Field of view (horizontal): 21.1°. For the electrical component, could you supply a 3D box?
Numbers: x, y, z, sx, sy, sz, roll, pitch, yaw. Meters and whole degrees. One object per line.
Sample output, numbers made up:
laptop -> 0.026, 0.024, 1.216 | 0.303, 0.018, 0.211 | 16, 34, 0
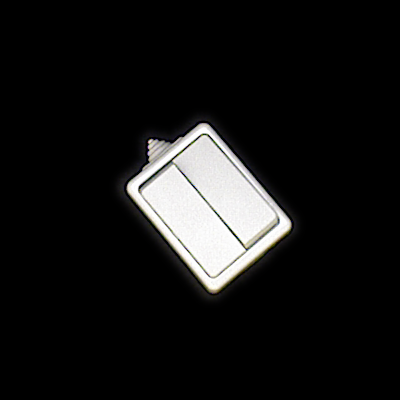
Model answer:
electrical component -> 0.000, 0.000, 0.627 | 0.062, 0.096, 0.061 | -39, -6, -4
